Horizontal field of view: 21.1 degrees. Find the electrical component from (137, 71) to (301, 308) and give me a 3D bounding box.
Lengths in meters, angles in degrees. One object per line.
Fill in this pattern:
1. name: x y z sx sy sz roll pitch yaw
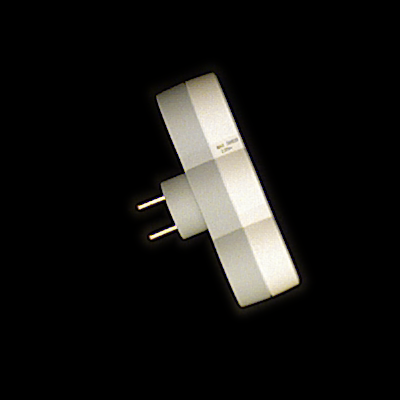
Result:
1. electrical component: 0.000 0.000 0.639 0.074 0.138 0.052 -22 -5 0
